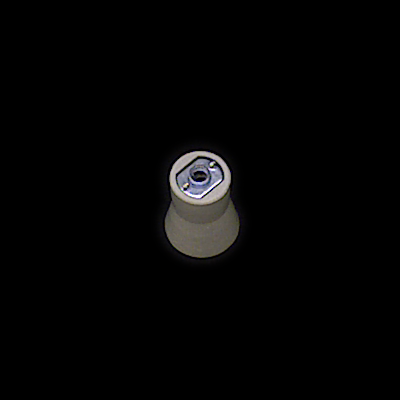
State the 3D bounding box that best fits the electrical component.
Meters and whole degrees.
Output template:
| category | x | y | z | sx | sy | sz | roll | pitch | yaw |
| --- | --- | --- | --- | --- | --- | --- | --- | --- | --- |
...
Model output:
| category | x | y | z | sx | sy | sz | roll | pitch | yaw |
| --- | --- | --- | --- | --- | --- | --- | --- | --- | --- |
| electrical component | 0.000 | 0.000 | 0.625 | 0.044 | 0.044 | 0.065 | 0 | -28 | 1 |
